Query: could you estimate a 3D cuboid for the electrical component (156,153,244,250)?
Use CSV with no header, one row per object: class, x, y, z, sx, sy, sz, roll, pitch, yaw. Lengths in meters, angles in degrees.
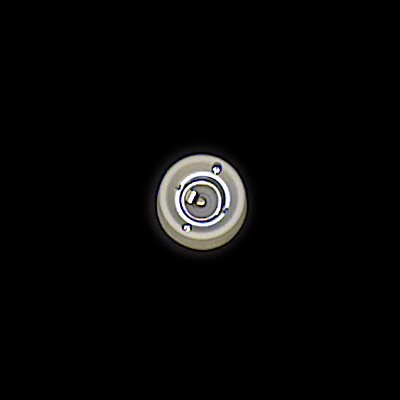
electrical component,0.000,0.000,0.634,0.055,0.055,0.047,0,-7,0
